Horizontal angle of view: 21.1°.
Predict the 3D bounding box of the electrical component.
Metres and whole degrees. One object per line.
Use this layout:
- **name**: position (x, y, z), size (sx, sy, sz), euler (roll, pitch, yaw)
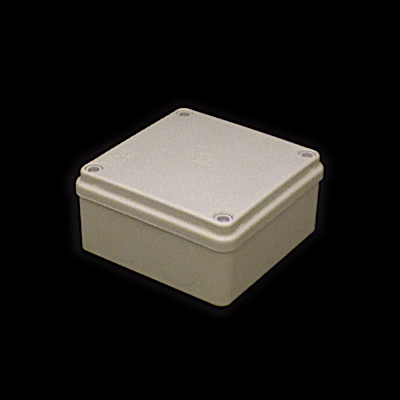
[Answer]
- **electrical component**: position (0.000, 0.000, 0.636), size (0.108, 0.057, 0.108), euler (21, 37, 28)
